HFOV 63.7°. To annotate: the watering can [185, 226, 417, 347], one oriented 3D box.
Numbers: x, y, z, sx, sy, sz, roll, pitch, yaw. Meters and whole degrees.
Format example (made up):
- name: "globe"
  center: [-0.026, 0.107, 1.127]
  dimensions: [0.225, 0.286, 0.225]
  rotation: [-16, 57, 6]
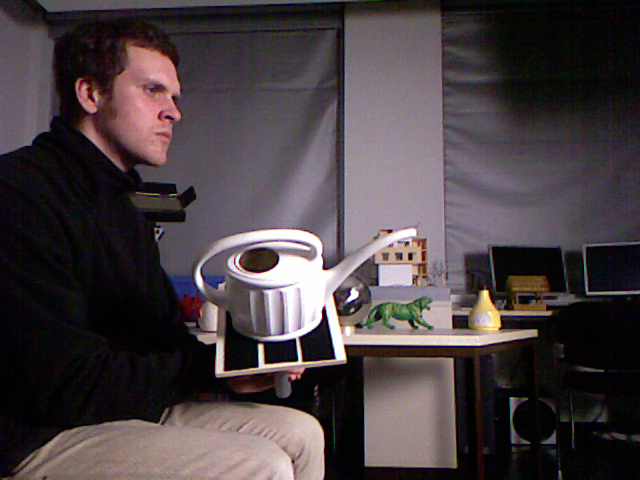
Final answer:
- name: "watering can"
  center: [-0.028, 0.066, 0.809]
  dimensions: [0.349, 0.219, 0.107]
  rotation: [-4, 42, -3]
